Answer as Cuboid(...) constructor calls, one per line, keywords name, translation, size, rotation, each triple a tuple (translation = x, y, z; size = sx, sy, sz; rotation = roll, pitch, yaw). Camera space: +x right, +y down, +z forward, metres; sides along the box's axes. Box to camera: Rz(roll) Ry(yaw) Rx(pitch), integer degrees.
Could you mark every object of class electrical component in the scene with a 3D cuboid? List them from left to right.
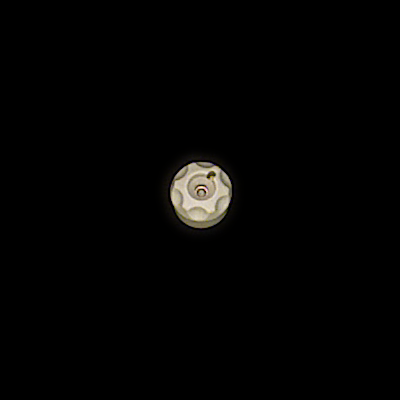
Cuboid(name="electrical component", translation=(0.000, 0.000, 0.634), size=(0.035, 0.035, 0.061), rotation=(0, -16, 1))
